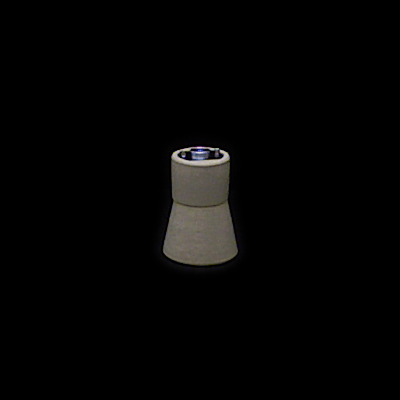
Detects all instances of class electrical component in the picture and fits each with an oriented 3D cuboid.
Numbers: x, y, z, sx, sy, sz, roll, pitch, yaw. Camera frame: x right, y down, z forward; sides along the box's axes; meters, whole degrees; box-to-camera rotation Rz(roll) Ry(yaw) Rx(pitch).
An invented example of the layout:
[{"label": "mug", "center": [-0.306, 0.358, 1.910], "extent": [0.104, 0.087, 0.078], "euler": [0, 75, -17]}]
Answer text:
[{"label": "electrical component", "center": [0.000, 0.000, 0.640], "extent": [0.044, 0.066, 0.044], "euler": [0, 20, 0]}]
